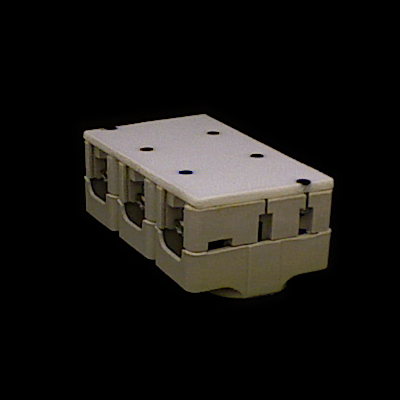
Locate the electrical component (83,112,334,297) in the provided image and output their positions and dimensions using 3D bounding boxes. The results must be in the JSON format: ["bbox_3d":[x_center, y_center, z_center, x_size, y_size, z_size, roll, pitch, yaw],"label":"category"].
[{"bbox_3d":[0.000,0.000,0.644,0.089,0.063,0.148,-10,23,-27],"label":"electrical component"}]
